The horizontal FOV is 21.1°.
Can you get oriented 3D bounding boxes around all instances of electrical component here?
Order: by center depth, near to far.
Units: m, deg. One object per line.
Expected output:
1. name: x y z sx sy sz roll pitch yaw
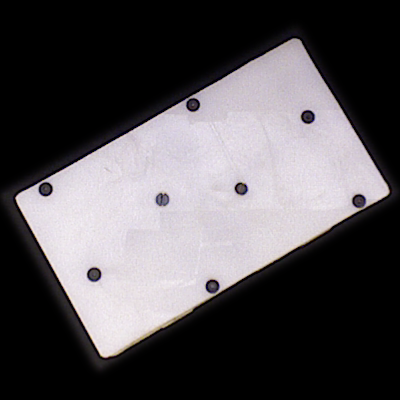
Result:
1. electrical component: 0.000 0.000 0.626 0.186 0.106 0.060 -30 -6 -3
